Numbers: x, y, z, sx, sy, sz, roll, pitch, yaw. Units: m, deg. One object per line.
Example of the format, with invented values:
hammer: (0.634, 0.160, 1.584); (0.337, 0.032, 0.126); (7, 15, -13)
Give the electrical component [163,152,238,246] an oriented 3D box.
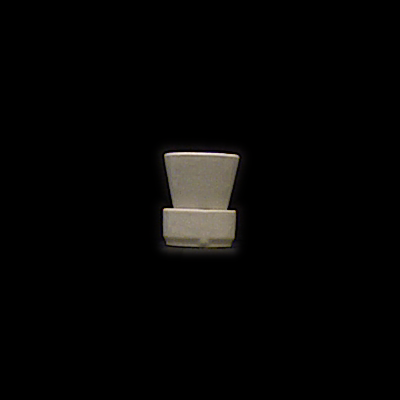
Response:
electrical component: (0.000, 0.000, 0.651); (0.045, 0.055, 0.045); (2, 1, 0)
